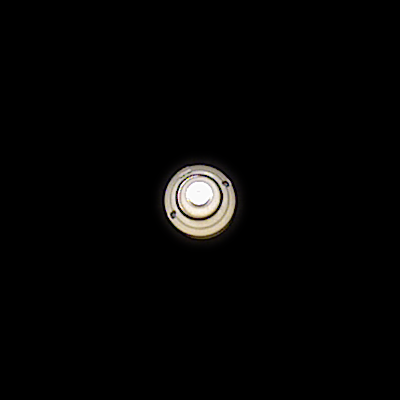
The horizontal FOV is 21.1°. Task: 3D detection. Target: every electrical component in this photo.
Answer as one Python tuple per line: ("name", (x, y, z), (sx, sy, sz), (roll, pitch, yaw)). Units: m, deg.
("electrical component", (0.000, 0.000, 0.618), (0.040, 0.040, 0.078), (0, -5, 1))
